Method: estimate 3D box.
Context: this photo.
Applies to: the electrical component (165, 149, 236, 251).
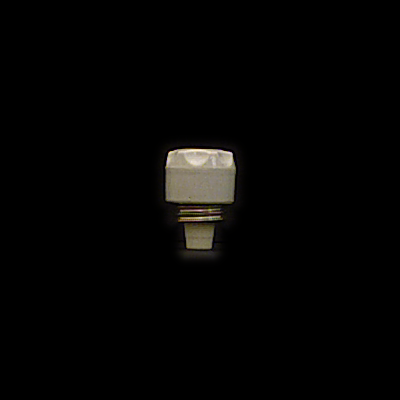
[{"bbox_3d":[0.000,0.000,0.655,0.043,0.062,0.043,1,2,0],"label":"electrical component"}]
